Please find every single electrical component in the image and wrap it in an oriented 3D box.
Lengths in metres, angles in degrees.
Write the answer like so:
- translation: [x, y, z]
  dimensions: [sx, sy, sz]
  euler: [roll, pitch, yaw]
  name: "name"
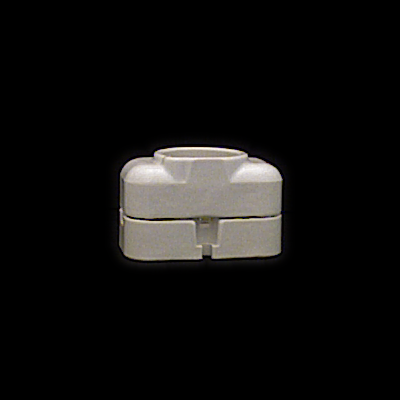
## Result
- translation: [0.000, 0.000, 0.649]
  dimensions: [0.095, 0.060, 0.053]
  euler: [-1, 11, -11]
  name: "electrical component"
